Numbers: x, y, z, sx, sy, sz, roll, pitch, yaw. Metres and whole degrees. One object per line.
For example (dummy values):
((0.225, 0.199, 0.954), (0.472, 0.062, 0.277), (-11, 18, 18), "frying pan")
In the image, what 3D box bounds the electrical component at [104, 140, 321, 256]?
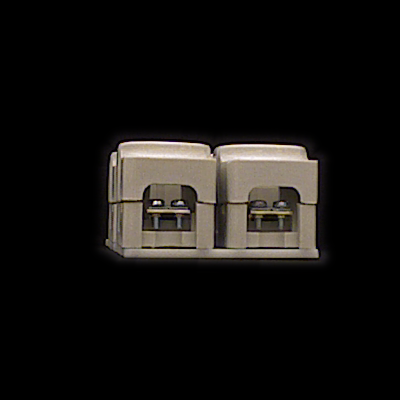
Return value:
((0.000, 0.000, 0.649), (0.106, 0.060, 0.186), (1, -1, -8), "electrical component")
